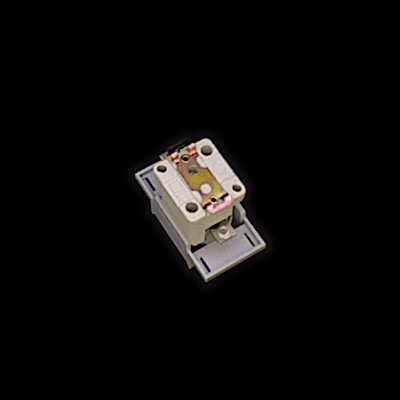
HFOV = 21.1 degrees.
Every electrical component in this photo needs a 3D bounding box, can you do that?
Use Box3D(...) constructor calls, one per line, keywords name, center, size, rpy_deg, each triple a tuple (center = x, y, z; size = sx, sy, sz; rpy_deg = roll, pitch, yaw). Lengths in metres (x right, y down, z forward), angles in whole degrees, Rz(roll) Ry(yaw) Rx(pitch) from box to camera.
Box3D(name="electrical component", center=(0.000, 0.000, 0.625), size=(0.042, 0.081, 0.063), rpy_deg=(-30, -23, -14))
